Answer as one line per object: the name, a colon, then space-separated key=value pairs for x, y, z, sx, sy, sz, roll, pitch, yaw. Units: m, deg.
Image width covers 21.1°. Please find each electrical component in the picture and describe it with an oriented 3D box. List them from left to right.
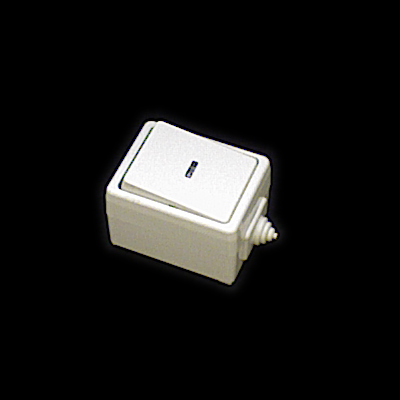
electrical component: x=0.000 y=0.000 z=0.627 sx=0.096 sy=0.061 sz=0.061 roll=18 pitch=-36 yaw=13
